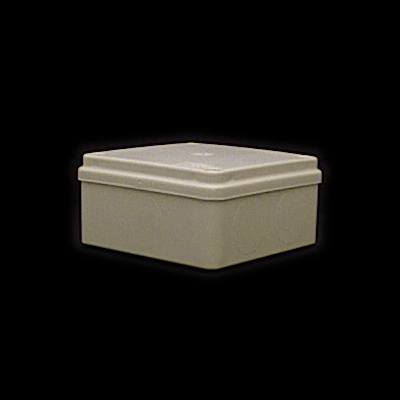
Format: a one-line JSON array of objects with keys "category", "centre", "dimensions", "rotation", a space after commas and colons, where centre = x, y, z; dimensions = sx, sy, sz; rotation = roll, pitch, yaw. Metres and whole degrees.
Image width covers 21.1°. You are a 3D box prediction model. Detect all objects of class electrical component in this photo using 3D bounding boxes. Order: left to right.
[{"category": "electrical component", "centre": [0.000, 0.000, 0.647], "dimensions": [0.108, 0.056, 0.108], "rotation": [9, 13, 38]}]
